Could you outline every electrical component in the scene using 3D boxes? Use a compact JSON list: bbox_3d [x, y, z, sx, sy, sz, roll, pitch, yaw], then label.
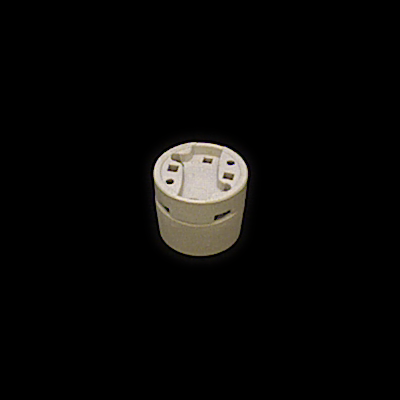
[{"bbox_3d":[0.000,0.000,0.637,0.055,0.047,0.055,1,42,0],"label":"electrical component"}]
